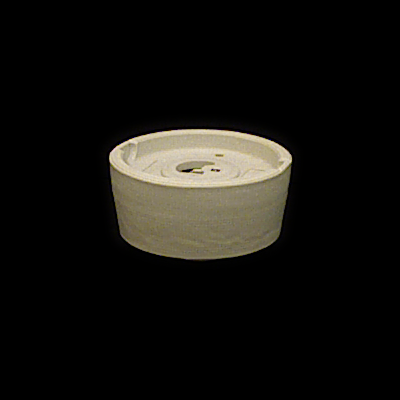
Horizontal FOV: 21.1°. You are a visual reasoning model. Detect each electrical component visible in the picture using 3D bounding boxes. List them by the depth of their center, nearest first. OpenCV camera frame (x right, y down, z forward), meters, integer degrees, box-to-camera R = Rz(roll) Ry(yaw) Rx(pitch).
[{"bbox_3d":[0.000,0.000,0.647,0.108,0.061,0.106,1,21,0],"label":"electrical component"}]
